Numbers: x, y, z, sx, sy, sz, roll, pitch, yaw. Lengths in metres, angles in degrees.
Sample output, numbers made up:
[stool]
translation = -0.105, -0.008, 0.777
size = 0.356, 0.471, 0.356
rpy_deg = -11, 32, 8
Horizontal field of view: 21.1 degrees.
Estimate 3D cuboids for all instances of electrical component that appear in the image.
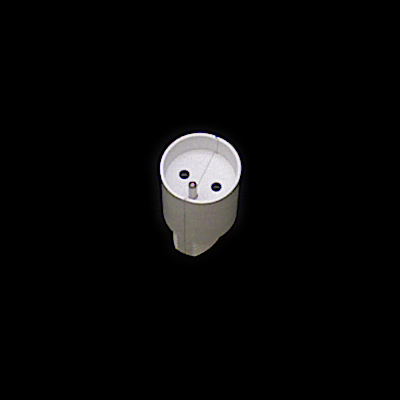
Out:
[electrical component]
translation = 0.000, 0.000, 0.615
size = 0.043, 0.043, 0.081
rpy_deg = 0, -27, 1
